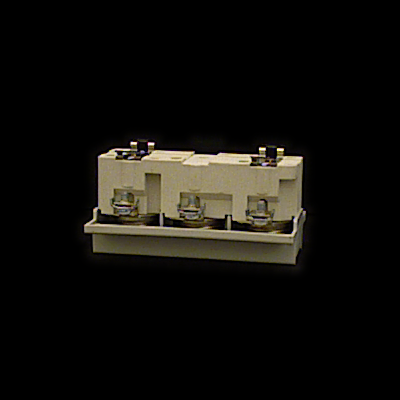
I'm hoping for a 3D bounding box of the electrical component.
[{"bbox_3d":[0.000,0.000,0.648,0.121,0.063,0.078,3,12,9],"label":"electrical component"}]
